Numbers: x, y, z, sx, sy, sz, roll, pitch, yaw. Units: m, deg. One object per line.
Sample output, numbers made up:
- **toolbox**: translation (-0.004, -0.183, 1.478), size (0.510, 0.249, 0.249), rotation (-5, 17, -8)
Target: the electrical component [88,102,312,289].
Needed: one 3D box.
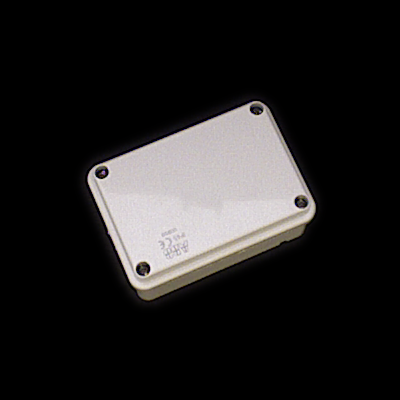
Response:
- **electrical component**: translation (0.000, 0.000, 0.626), size (0.113, 0.078, 0.057), rotation (-23, -15, -7)
